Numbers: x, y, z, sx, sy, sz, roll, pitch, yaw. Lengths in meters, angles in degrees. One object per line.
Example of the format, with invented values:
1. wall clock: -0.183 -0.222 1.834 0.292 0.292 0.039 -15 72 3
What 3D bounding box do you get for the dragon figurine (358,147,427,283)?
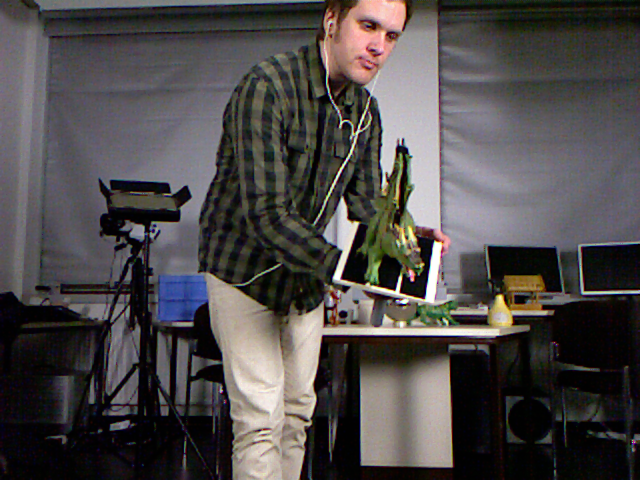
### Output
1. dragon figurine: 0.150 -0.071 1.021 0.122 0.237 0.422 2 44 -6
